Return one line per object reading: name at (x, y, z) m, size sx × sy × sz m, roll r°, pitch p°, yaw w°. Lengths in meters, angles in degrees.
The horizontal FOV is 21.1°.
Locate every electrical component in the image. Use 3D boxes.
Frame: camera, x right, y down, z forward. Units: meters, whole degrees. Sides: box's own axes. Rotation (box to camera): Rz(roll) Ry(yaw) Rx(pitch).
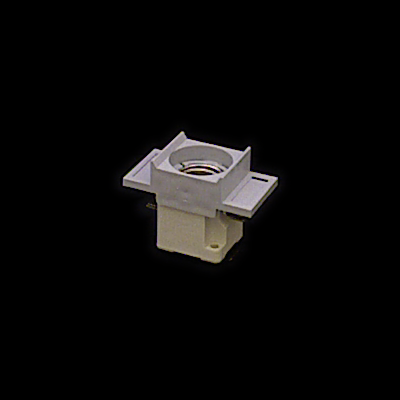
electrical component at (0.000, 0.000, 0.633) m, size 0.080 × 0.064 × 0.042 m, roll 14°, pitch 35°, yaw 20°
